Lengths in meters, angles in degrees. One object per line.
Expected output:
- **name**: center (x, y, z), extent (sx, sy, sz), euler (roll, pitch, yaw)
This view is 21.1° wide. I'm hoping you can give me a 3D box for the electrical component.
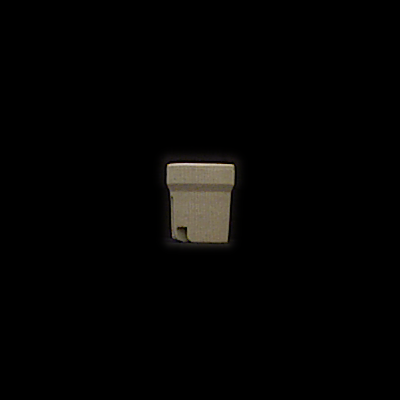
- **electrical component**: center (0.000, 0.000, 0.648), extent (0.040, 0.046, 0.040), euler (1, 1, 1)
